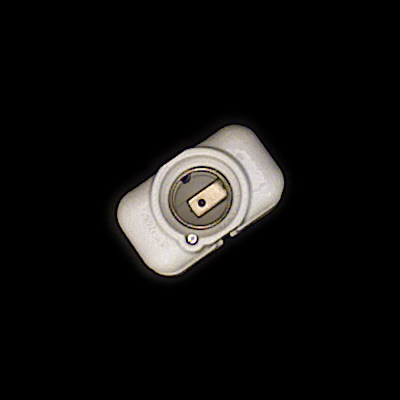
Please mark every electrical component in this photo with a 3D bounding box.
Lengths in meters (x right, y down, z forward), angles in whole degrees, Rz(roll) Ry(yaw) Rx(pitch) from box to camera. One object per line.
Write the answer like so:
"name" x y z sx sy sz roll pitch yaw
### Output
"electrical component" 0.000 0.000 0.635 0.095 0.054 0.059 -35 -5 -3
